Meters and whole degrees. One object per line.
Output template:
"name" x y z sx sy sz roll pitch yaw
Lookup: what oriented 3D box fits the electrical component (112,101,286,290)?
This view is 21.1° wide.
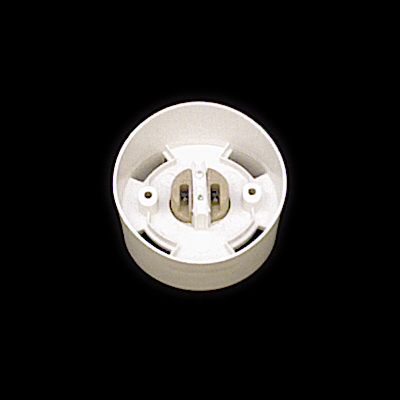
"electrical component" 0.000 0.000 0.626 0.099 0.098 0.064 0 -38 0
